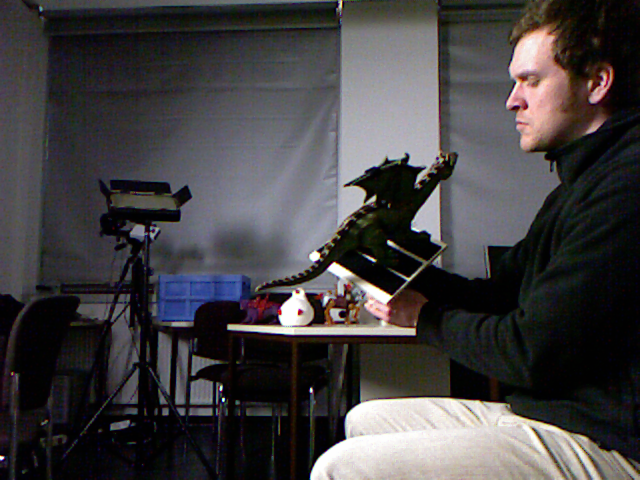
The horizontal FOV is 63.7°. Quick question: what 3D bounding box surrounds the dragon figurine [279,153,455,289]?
[{"bbox_3d":[0.100,-0.057,0.972,0.415,0.238,0.125,-27,52,-21],"label":"dragon figurine"}]
